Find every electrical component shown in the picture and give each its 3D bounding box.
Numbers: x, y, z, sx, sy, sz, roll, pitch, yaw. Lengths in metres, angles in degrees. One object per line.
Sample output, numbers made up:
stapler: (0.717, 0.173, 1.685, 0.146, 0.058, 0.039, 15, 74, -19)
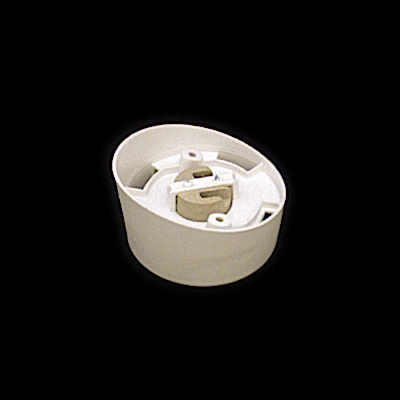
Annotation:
electrical component: (0.000, 0.000, 0.628, 0.099, 0.064, 0.098, 0, 42, 0)
